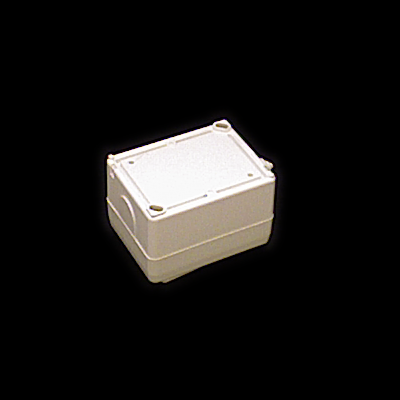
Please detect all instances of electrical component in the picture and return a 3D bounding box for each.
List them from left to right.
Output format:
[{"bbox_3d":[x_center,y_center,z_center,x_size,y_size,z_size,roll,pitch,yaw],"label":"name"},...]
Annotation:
[{"bbox_3d":[0.000,0.000,0.630,0.096,0.061,0.061,-19,46,-22],"label":"electrical component"}]
